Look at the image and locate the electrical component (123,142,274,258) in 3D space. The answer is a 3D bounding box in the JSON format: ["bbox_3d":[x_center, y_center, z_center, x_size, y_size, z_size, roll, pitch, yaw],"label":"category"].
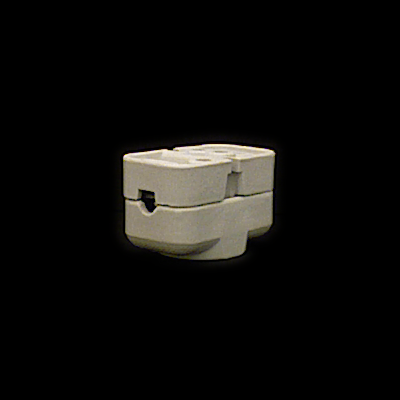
[{"bbox_3d":[0.000,0.000,0.651,0.053,0.060,0.096,11,15,39],"label":"electrical component"}]
